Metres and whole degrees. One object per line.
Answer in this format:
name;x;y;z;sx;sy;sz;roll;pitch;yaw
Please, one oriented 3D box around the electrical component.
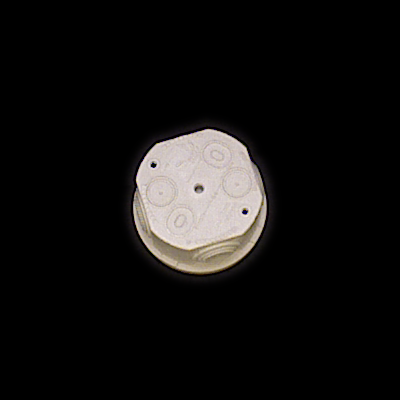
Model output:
electrical component;0.000;0.000;0.632;0.080;0.080;0.050;0;-17;1
